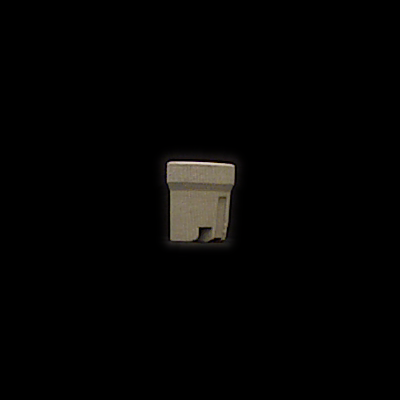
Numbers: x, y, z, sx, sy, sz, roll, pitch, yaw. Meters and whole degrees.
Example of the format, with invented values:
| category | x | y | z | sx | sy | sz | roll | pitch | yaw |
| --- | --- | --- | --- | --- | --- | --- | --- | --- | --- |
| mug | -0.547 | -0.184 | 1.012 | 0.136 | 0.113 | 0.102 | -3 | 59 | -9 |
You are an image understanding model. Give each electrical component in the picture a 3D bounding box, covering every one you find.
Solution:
| category | x | y | z | sx | sy | sz | roll | pitch | yaw |
| --- | --- | --- | --- | --- | --- | --- | --- | --- | --- |
| electrical component | 0.000 | 0.000 | 0.647 | 0.040 | 0.046 | 0.040 | 1 | 1 | 0 |
